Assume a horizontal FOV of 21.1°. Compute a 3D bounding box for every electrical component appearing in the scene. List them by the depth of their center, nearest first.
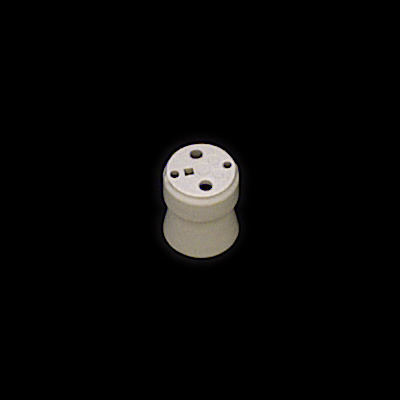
[{"bbox_3d":[0.000,0.000,0.631,0.045,0.044,0.055,0,-38,-1],"label":"electrical component"}]
